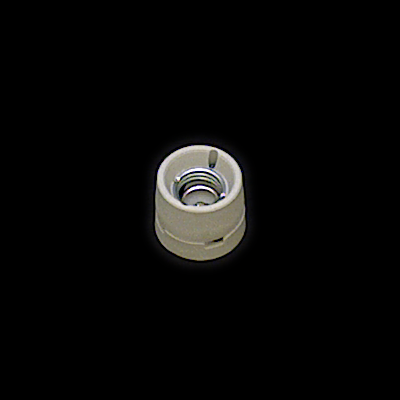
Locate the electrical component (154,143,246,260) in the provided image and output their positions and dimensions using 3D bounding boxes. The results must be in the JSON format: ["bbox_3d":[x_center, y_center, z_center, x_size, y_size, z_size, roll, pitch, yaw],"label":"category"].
[{"bbox_3d":[0.000,0.000,0.633,0.055,0.055,0.047,0,-37,0],"label":"electrical component"}]
